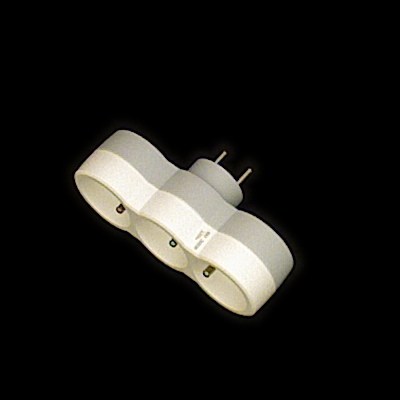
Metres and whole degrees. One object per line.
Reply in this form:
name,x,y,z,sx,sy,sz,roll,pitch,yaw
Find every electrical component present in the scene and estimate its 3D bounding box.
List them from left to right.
electrical component,0.000,0.000,0.638,0.137,0.074,0.052,35,-23,16
